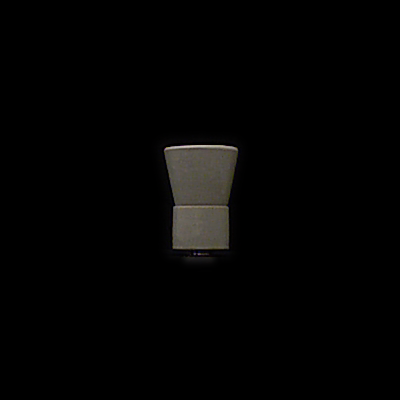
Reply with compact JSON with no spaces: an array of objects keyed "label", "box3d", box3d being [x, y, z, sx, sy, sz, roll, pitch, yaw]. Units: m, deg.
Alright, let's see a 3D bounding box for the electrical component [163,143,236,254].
[{"label":"electrical component","box3d":[0.000,0.000,0.651,0.044,0.065,0.044,0,1,0]}]
